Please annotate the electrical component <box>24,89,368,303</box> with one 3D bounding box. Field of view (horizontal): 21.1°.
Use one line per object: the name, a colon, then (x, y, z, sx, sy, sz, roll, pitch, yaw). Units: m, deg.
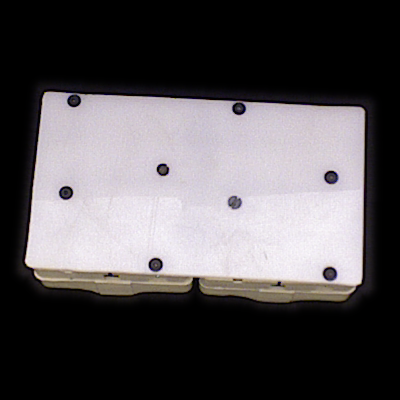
electrical component: (0.000, 0.000, 0.625, 0.186, 0.106, 0.060, 3, -17, 0)
